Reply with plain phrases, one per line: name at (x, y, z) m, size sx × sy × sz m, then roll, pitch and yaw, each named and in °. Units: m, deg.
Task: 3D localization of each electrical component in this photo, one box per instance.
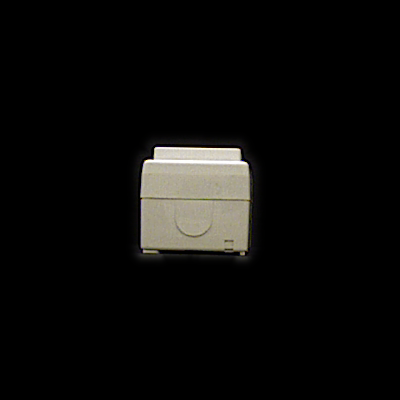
electrical component at (0.000, 0.000, 0.652) m, size 0.062 × 0.061 × 0.096 m, roll 1°, pitch 0°, yaw 4°
